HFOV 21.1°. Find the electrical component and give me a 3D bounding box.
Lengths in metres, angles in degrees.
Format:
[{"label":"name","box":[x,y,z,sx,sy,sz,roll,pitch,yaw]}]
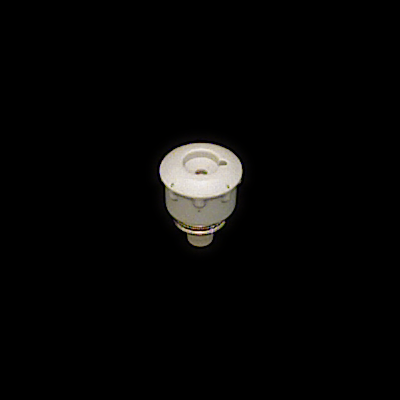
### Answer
[{"label":"electrical component","box":[0.000,0.000,0.639,0.048,0.062,0.047,1,43,0]}]
